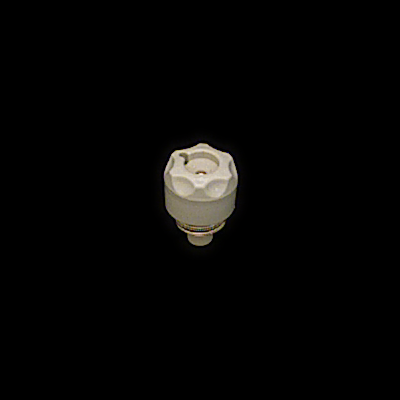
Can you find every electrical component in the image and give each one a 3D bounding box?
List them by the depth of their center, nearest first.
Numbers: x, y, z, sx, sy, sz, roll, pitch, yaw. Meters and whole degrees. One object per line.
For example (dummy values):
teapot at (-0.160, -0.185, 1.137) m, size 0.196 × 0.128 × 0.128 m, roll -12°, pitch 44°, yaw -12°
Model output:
electrical component at (0.000, 0.000, 0.638) m, size 0.043 × 0.062 × 0.043 m, roll 1°, pitch 43°, yaw 0°
